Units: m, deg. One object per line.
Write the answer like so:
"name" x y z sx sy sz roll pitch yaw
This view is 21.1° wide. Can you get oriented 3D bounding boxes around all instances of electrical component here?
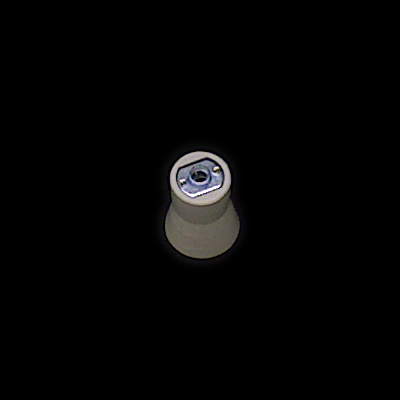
"electrical component" 0.000 0.000 0.626 0.044 0.044 0.065 0 -28 1
